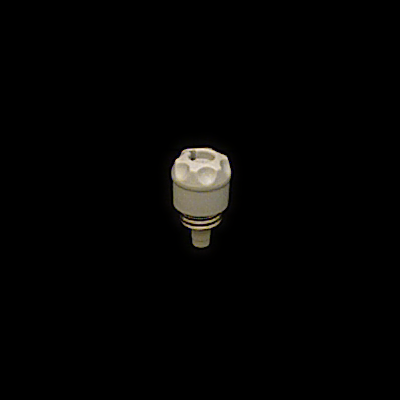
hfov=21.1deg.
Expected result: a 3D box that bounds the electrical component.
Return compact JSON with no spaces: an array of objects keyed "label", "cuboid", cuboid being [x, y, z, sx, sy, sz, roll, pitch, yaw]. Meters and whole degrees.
[{"label":"electrical component","cuboid":[0.000,0.000,0.643,0.035,0.062,0.034,1,32,0]}]
